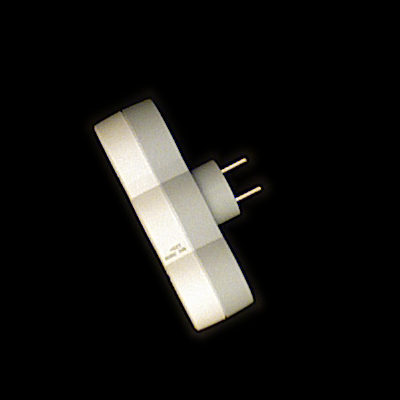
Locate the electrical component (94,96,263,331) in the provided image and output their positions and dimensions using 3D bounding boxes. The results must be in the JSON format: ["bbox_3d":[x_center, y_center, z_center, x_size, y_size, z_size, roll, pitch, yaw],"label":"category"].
[{"bbox_3d":[0.000,0.000,0.639,0.074,0.138,0.052,-27,-5,-4],"label":"electrical component"}]
